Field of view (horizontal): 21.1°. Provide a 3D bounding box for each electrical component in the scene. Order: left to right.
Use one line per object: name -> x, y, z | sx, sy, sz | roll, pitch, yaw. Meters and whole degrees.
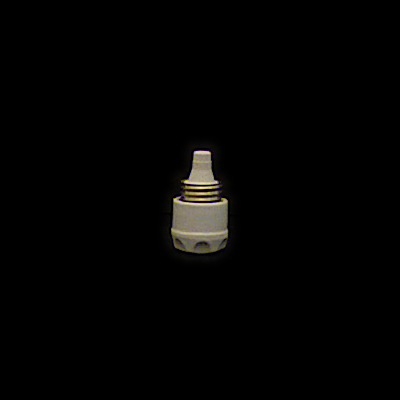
electrical component -> 0.000, 0.000, 0.657 | 0.035, 0.062, 0.035 | 2, 11, 0
